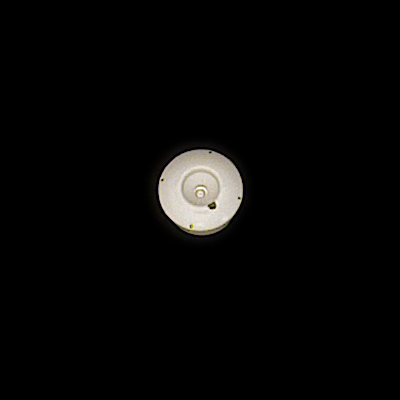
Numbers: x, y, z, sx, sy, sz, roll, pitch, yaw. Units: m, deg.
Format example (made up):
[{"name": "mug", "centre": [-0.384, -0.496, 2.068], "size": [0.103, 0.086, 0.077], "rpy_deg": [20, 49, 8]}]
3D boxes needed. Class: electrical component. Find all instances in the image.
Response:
[{"name": "electrical component", "centre": [0.000, 0.000, 0.634], "size": [0.048, 0.048, 0.061], "rpy_deg": [0, -16, 1]}]
